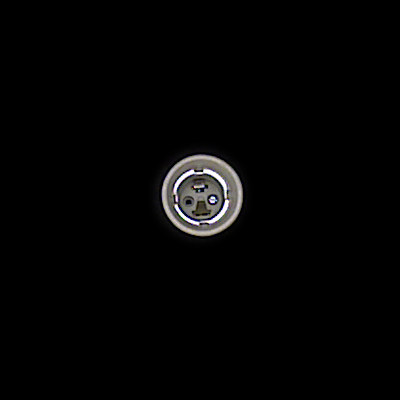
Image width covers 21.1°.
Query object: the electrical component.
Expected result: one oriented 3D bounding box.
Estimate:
[{"bbox_3d":[0.000,0.000,0.625,0.044,0.044,0.065,0,-7,-1],"label":"electrical component"}]
